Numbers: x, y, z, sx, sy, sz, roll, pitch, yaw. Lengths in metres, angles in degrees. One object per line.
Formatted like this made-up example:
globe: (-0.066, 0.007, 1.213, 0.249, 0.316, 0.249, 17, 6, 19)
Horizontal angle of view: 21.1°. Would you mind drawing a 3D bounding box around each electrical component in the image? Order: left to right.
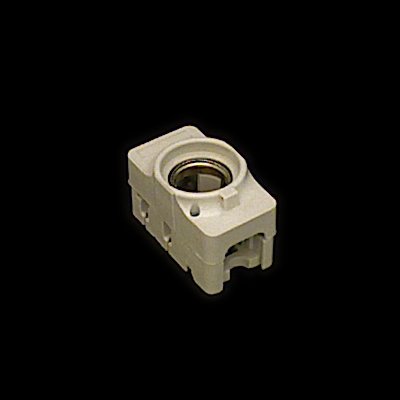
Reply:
electrical component: (0.000, 0.000, 0.639, 0.050, 0.056, 0.088, -25, 48, -25)
